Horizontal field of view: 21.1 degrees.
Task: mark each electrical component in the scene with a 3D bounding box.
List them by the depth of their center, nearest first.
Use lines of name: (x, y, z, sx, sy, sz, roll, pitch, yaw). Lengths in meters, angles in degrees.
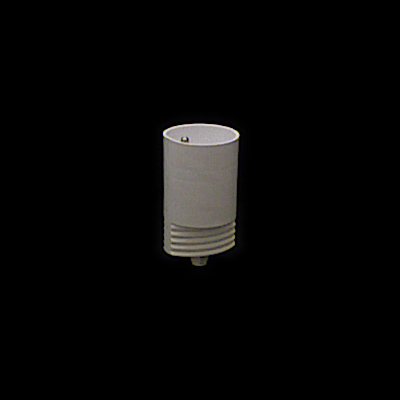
electrical component: (0.000, 0.000, 0.632, 0.043, 0.082, 0.042, 0, 21, 0)
